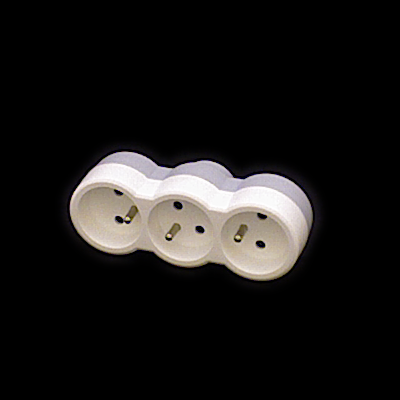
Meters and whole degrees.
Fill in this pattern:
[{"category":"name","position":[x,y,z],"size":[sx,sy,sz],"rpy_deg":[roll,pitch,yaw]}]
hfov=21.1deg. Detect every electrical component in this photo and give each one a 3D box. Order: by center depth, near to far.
[{"category":"electrical component","position":[0.000,0.000,0.637],"size":[0.138,0.053,0.073],"rpy_deg":[9,30,14]}]
